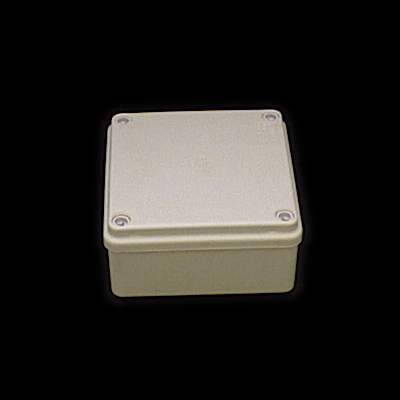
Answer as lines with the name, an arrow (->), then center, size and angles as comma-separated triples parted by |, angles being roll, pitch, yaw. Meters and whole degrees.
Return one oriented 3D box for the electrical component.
electrical component -> 0.000, 0.000, 0.631 | 0.109, 0.056, 0.108 | -2, 42, -2
